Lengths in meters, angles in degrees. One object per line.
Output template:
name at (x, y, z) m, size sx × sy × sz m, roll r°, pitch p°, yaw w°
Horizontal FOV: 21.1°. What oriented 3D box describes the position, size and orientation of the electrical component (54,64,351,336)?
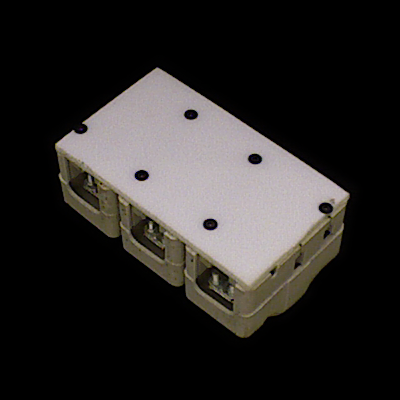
electrical component at (0.000, 0.000, 0.633) m, size 0.149 × 0.062 × 0.089 m, roll 36°, pitch 60°, yaw 24°
